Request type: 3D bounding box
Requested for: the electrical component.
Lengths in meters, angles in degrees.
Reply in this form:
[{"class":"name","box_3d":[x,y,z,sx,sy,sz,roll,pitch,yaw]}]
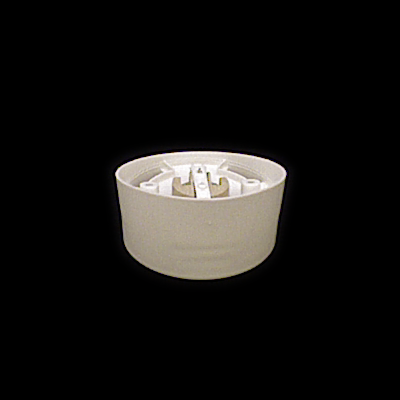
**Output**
[{"class":"electrical component","box_3d":[0.000,0.000,0.632,0.099,0.065,0.097,1,32,-1]}]
